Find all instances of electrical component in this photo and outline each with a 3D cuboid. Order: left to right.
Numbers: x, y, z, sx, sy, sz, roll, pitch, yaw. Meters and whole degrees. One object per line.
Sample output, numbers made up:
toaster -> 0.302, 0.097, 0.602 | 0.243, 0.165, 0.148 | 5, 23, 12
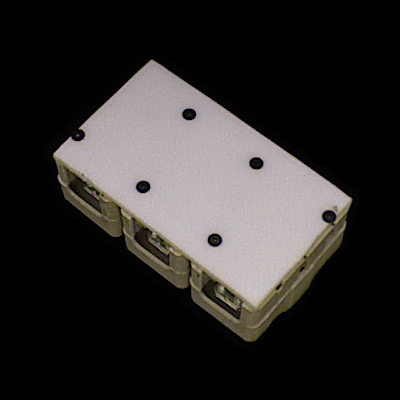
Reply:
electrical component -> 0.000, 0.000, 0.631 | 0.149, 0.089, 0.062 | 37, -22, 17
